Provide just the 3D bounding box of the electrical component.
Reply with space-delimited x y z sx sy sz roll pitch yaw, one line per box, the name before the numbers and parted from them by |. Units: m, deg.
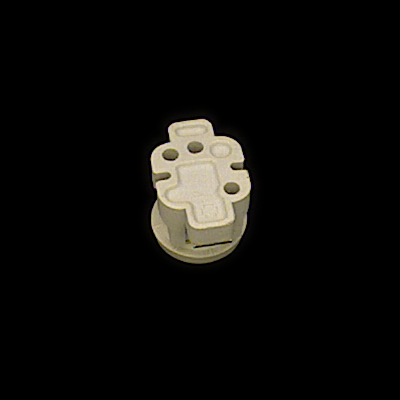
electrical component | 0.000 0.000 0.636 0.058 0.078 0.057 -9 -35 -8
